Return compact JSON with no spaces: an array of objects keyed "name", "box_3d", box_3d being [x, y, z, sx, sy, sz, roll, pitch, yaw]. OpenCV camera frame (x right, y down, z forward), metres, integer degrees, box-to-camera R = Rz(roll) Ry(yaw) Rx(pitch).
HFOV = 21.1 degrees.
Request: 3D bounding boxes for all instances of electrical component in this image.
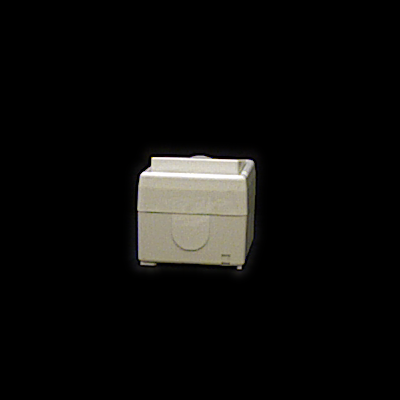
[{"name":"electrical component","box_3d":[0.000,0.000,0.646,0.062,0.061,0.095,2,10,6]}]
